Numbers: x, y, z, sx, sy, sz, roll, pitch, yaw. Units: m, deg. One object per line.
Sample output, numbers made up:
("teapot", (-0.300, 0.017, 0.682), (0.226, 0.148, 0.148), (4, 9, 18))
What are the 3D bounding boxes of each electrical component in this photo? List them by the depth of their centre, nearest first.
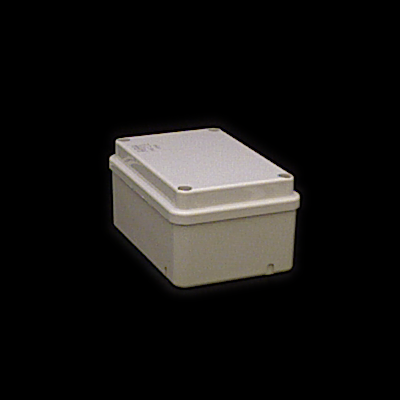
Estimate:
("electrical component", (0.000, 0.000, 0.638), (0.078, 0.058, 0.111), (-8, 23, -23))
